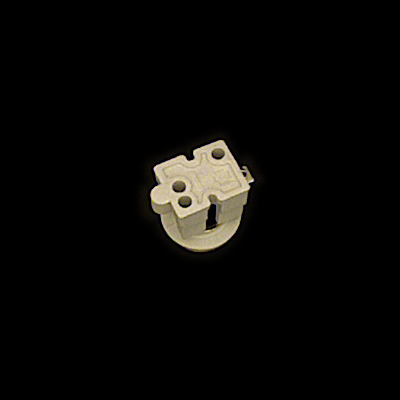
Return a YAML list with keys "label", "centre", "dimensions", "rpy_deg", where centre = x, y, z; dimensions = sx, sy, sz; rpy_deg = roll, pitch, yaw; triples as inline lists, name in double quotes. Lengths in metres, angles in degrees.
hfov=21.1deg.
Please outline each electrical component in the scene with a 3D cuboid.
- label: "electrical component"
  centre: [0.000, 0.000, 0.637]
  dimensions: [0.067, 0.048, 0.055]
  rpy_deg: [-23, -26, -12]
